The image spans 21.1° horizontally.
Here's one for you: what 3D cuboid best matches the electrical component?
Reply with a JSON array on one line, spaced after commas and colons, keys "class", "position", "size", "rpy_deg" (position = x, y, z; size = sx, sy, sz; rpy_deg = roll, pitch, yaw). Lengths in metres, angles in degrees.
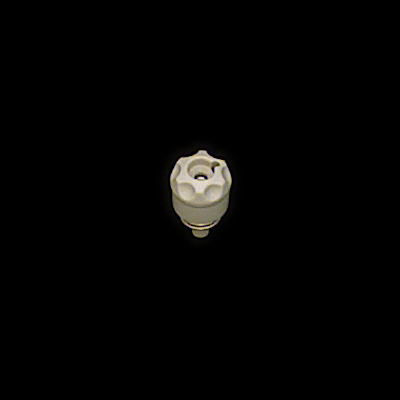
[{"class": "electrical component", "position": [0.000, 0.000, 0.635], "size": [0.035, 0.035, 0.062], "rpy_deg": [0, -37, 0]}]
